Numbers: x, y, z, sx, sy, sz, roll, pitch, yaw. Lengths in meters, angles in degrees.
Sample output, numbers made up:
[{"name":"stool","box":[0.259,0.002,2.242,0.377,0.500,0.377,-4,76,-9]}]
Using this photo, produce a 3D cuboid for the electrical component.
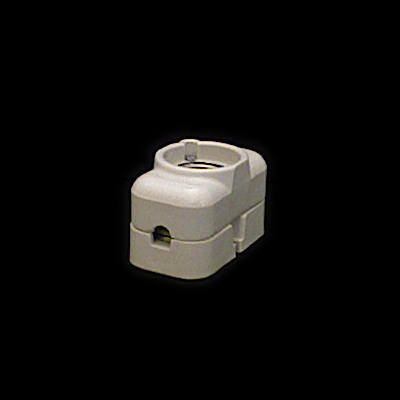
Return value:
[{"name":"electrical component","box":[0.000,0.000,0.646,0.053,0.060,0.095,12,24,25]}]
